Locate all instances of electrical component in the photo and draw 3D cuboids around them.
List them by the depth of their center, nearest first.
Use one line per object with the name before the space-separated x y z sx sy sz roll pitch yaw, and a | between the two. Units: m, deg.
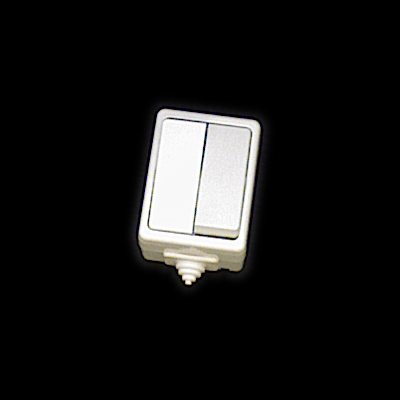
electrical component | 0.000 0.000 0.625 0.062 0.097 0.060 8 -17 2
